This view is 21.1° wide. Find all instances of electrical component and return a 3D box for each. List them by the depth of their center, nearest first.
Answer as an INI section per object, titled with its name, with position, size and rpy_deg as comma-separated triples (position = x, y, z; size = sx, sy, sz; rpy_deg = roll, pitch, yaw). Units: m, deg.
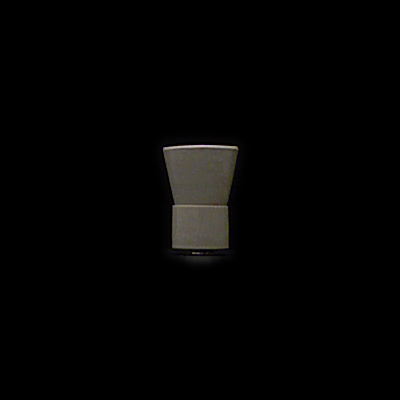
[electrical component]
position = 0.000, 0.000, 0.648
size = 0.044, 0.065, 0.044
rpy_deg = 1, 2, 0
